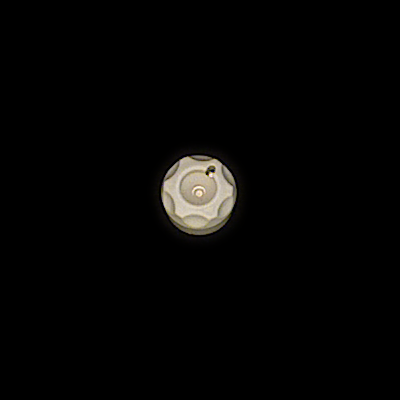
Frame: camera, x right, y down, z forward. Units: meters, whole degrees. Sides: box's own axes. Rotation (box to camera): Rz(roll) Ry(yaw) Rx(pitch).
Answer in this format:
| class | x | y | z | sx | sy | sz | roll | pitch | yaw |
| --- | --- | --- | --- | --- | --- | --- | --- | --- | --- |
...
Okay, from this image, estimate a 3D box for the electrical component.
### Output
| class | x | y | z | sx | sy | sz | roll | pitch | yaw |
| --- | --- | --- | --- | --- | --- | --- | --- | --- | --- |
| electrical component | 0.000 | 0.000 | 0.633 | 0.043 | 0.043 | 0.061 | 0 | -15 | 1 |
